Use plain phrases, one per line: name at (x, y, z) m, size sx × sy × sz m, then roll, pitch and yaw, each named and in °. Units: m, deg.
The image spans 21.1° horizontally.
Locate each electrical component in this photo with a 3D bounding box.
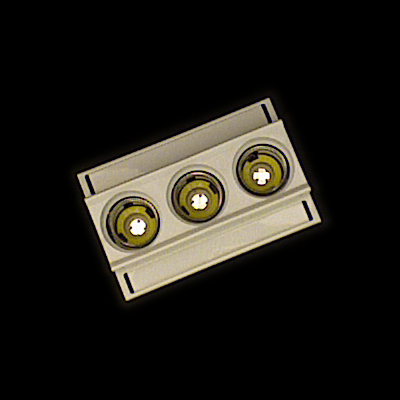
electrical component at (0.000, 0.000, 0.637) m, size 0.121 × 0.079 × 0.063 m, roll -22°, pitch -7°, yaw -2°
